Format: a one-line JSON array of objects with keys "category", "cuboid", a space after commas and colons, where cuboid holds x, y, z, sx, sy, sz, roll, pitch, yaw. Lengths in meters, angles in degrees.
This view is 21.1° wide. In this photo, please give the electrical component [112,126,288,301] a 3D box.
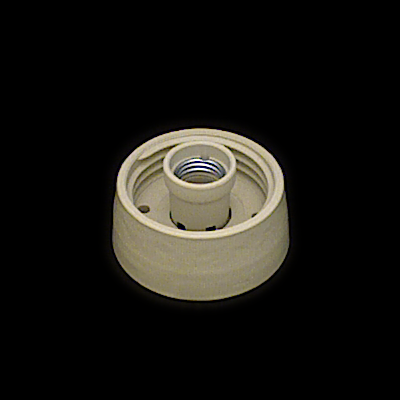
[{"category": "electrical component", "cuboid": [0.000, 0.000, 0.639, 0.108, 0.061, 0.106, 1, 43, 0]}]
